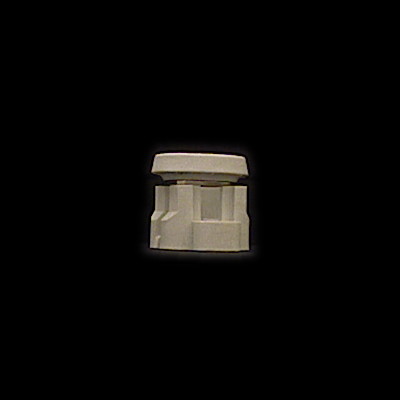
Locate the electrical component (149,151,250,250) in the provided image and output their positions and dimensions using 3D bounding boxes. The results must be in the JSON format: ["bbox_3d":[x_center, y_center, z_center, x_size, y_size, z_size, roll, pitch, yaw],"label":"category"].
[{"bbox_3d":[0.000,0.000,0.650,0.058,0.057,0.078,1,0,-20],"label":"electrical component"}]
